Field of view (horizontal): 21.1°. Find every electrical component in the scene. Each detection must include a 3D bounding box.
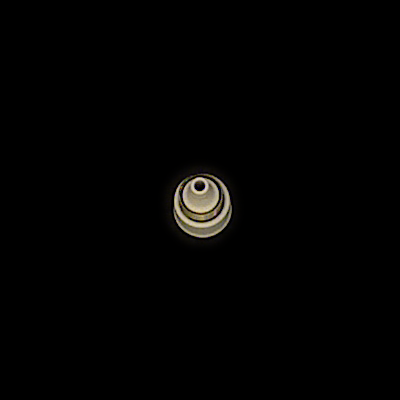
[{"bbox_3d":[0.000,0.000,0.636,0.035,0.035,0.061,0,-17,2],"label":"electrical component"}]
